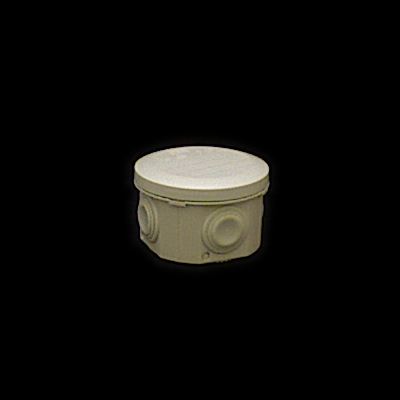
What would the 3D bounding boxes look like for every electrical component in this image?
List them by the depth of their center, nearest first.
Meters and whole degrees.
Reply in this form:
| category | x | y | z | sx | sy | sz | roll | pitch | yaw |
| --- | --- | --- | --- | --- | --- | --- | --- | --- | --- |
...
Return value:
| category | x | y | z | sx | sy | sz | roll | pitch | yaw |
| --- | --- | --- | --- | --- | --- | --- | --- | --- | --- |
| electrical component | 0.000 | 0.000 | 0.642 | 0.080 | 0.051 | 0.079 | 1 | 21 | 0 |
